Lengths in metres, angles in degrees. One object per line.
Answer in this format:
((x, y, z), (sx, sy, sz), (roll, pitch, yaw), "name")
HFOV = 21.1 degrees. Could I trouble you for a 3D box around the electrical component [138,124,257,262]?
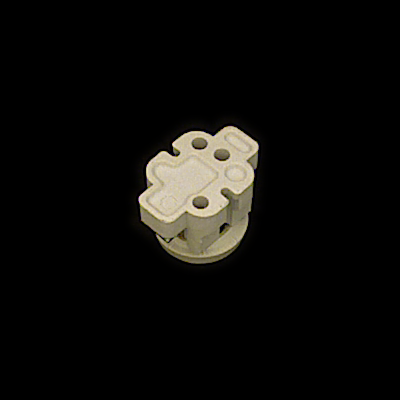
((0.000, 0.000, 0.635), (0.057, 0.079, 0.057), (37, -28, 23), "electrical component")
